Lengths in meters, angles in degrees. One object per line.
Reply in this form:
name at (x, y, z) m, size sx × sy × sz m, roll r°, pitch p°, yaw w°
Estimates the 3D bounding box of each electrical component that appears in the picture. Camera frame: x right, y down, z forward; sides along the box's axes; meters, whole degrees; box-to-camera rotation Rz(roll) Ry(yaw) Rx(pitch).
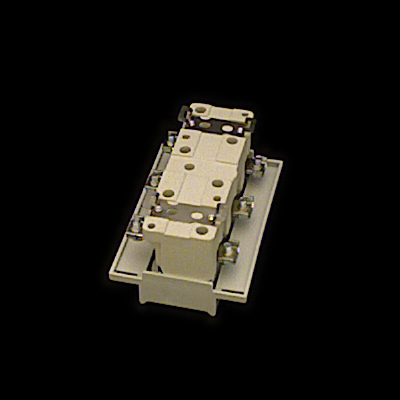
electrical component at (0.000, 0.000, 0.638) m, size 0.078 × 0.063 × 0.120 m, roll 9°, pitch 43°, yaw 8°
